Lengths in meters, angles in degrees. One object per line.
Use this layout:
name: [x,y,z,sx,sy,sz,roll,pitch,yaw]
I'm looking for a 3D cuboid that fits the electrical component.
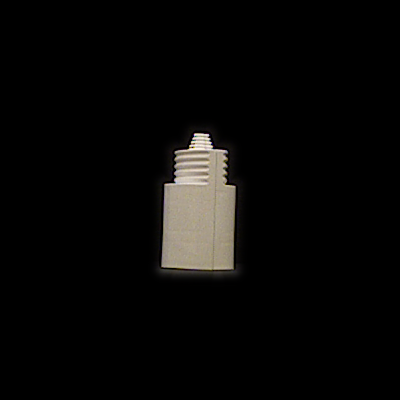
electrical component: [0.000,0.000,0.649,0.043,0.081,0.043,1,1,0]
